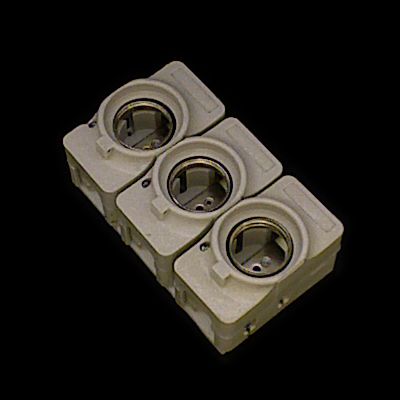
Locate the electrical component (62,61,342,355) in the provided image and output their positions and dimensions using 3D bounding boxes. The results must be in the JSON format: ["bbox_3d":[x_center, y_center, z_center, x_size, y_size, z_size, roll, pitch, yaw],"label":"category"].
[{"bbox_3d":[0.000,0.000,0.631,0.089,0.149,0.062,-37,-22,-16],"label":"electrical component"}]
